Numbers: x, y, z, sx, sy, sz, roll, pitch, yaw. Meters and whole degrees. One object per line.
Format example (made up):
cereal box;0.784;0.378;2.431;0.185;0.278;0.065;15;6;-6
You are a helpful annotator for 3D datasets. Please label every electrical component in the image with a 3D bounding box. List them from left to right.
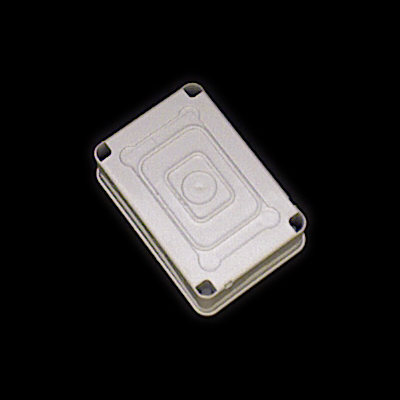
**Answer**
electrical component;0.000;0.000;0.627;0.078;0.113;0.057;-35;-14;-10
